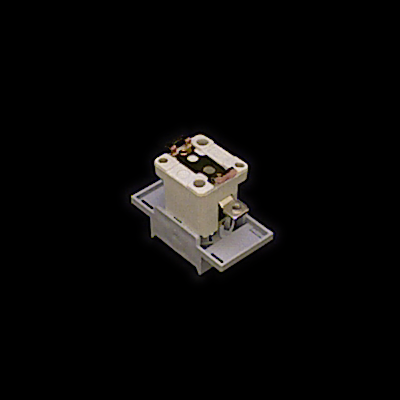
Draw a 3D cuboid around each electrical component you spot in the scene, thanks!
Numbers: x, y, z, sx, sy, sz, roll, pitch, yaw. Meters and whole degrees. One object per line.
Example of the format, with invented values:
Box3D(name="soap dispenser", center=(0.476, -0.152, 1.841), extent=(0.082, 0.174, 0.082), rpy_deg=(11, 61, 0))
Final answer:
Box3D(name="electrical component", center=(0.000, 0.000, 0.630), extent=(0.042, 0.064, 0.080), rpy_deg=(-32, 52, -31))
